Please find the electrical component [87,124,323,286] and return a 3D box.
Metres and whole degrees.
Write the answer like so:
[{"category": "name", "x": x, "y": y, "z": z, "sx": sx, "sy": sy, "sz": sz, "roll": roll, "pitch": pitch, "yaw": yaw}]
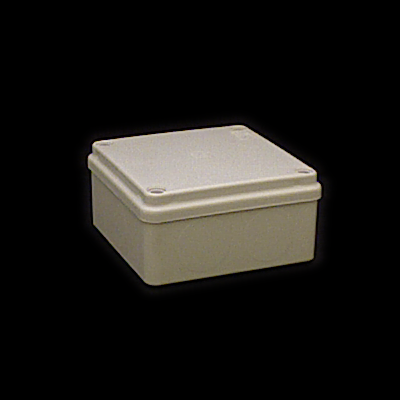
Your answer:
[{"category": "electrical component", "x": 0.000, "y": 0.000, "z": 0.638, "sx": 0.109, "sy": 0.057, "sz": 0.107, "roll": -8, "pitch": 23, "yaw": -22}]
